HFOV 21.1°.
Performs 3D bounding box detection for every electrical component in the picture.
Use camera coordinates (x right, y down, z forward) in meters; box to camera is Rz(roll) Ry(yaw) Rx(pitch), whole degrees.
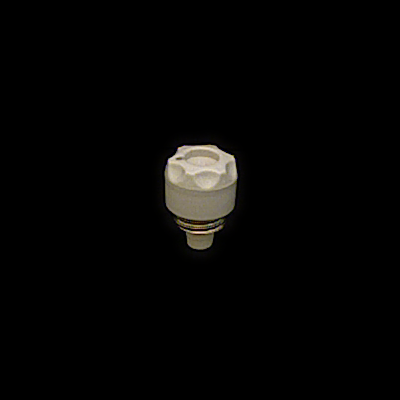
[{"bbox_3d":[0.000,0.000,0.642,0.043,0.063,0.043,1,32,0],"label":"electrical component"}]
